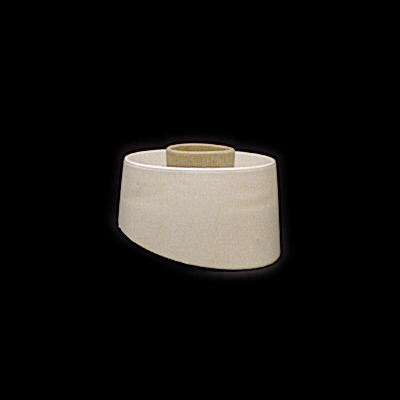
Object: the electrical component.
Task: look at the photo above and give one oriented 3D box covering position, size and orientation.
[{"bbox_3d":[0.000,0.000,0.644,0.099,0.064,0.098,2,11,0],"label":"electrical component"}]
